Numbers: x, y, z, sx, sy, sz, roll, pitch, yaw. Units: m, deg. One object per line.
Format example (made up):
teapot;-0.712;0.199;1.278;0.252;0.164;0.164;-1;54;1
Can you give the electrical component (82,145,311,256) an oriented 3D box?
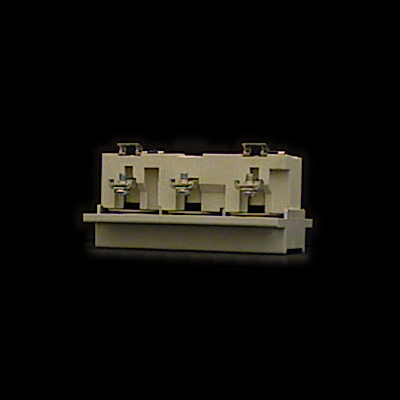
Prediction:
electrical component;0.000;0.000;0.660;0.121;0.063;0.079;2;0;19
